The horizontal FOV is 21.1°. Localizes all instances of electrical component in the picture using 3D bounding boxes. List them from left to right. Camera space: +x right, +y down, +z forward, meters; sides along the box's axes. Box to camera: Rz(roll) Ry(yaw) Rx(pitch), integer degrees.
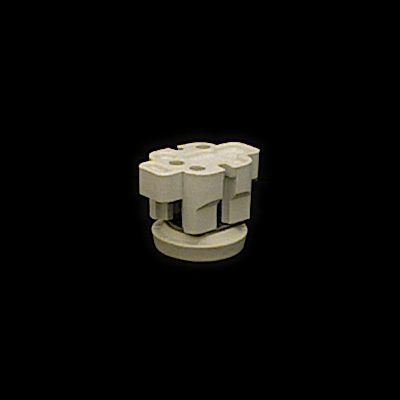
[{"bbox_3d":[0.000,0.000,0.648,0.079,0.057,0.057,-16,27,-40],"label":"electrical component"}]
